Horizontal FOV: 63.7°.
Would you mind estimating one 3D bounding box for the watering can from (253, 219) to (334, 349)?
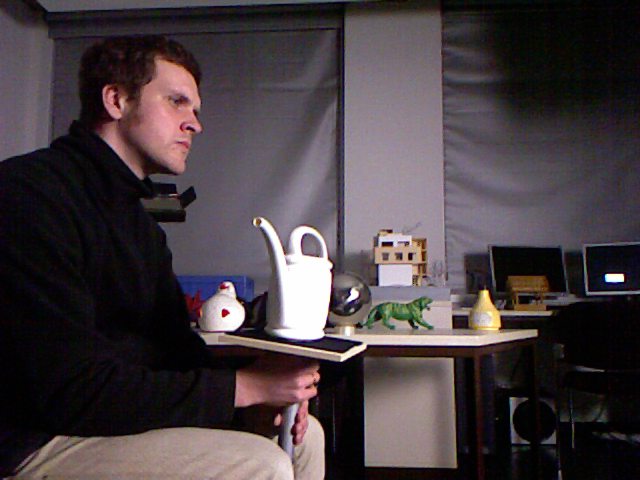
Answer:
[{"bbox_3d":[-0.047,0.079,0.855,0.104,0.225,0.346,7,-5,20],"label":"watering can"}]
